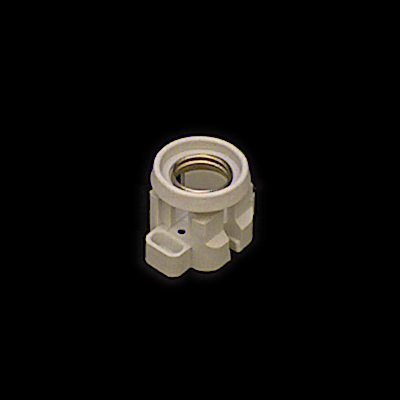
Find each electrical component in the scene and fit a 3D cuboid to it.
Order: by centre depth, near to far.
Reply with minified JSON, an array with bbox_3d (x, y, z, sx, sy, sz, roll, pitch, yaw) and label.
[{"bbox_3d":[0.000,0.000,0.633,0.057,0.057,0.078,30,50,29],"label":"electrical component"}]
